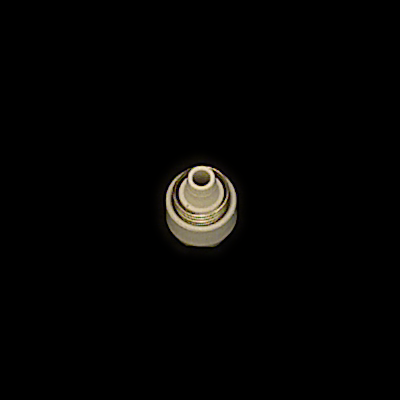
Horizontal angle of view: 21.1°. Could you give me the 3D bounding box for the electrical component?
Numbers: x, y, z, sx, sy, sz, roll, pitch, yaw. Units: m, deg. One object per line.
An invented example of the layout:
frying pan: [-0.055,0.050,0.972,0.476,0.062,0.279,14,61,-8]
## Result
electrical component: [0.000,0.000,0.633,0.043,0.043,0.062,0,-25,0]
